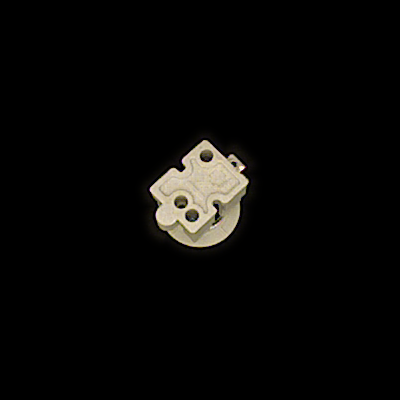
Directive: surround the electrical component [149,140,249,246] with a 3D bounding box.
[{"bbox_3d":[0.000,0.000,0.637,0.067,0.048,0.055,-42,-13,-12],"label":"electrical component"}]
